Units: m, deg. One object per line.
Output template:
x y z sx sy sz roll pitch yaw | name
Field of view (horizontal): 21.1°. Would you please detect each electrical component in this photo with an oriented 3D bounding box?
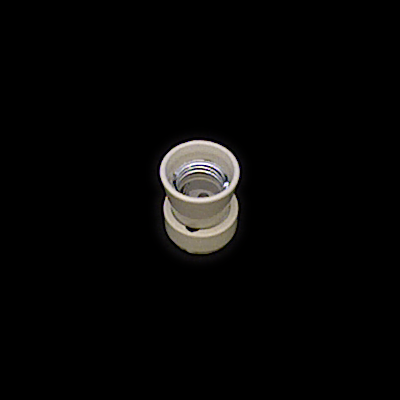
0.000 0.000 0.629 0.045 0.044 0.055 0 -38 0 | electrical component
